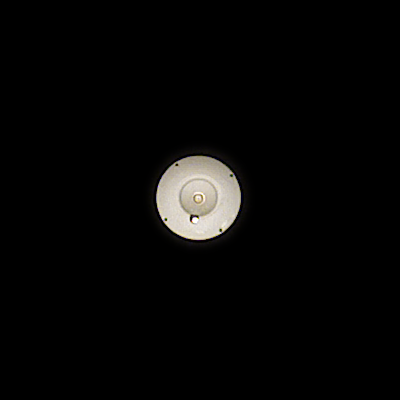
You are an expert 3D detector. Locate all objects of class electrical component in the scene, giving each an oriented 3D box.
[{"bbox_3d":[0.000,0.000,0.634,0.048,0.048,0.062,0,-6,1],"label":"electrical component"}]
